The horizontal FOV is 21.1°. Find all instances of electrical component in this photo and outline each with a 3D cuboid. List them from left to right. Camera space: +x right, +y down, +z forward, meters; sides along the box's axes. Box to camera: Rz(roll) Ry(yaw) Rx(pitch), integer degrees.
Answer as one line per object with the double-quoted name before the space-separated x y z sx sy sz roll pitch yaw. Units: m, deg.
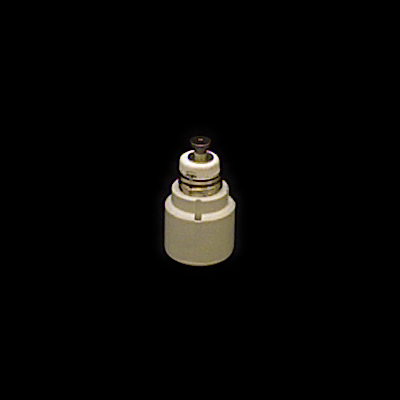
"electrical component" 0.000 0.000 0.628 0.040 0.079 0.039 0 30 0
